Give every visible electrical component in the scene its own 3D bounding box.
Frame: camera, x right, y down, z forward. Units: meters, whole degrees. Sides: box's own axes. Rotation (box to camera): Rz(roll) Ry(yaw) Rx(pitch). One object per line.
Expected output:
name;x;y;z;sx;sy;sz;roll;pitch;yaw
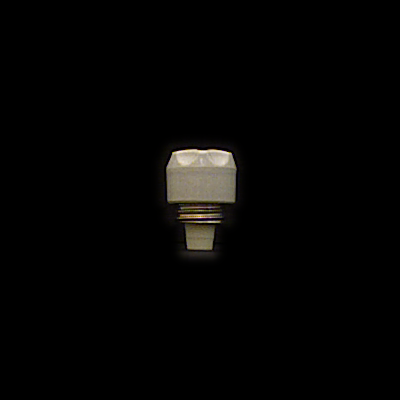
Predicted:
electrical component;0.000;0.000;0.658;0.043;0.062;0.043;1;1;1
